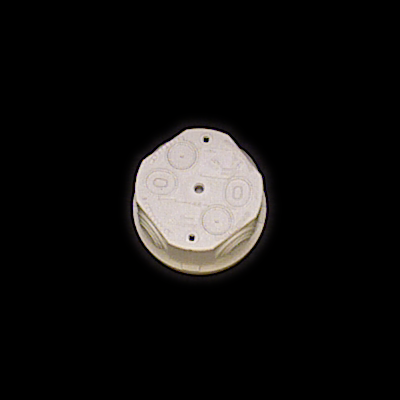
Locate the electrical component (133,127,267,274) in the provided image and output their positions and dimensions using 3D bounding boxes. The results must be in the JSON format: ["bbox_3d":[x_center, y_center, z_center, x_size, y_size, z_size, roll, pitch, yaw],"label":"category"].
[{"bbox_3d":[0.000,0.000,0.632,0.080,0.080,0.050,0,-18,0],"label":"electrical component"}]
